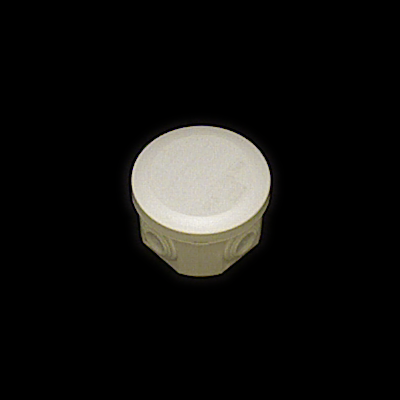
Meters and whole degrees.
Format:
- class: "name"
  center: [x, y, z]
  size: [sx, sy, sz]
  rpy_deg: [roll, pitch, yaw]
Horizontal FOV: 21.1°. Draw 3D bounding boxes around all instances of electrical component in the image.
- class: "electrical component"
  center: [0.000, 0.000, 0.630]
  size: [0.080, 0.080, 0.051]
  rpy_deg: [0, -38, 0]
